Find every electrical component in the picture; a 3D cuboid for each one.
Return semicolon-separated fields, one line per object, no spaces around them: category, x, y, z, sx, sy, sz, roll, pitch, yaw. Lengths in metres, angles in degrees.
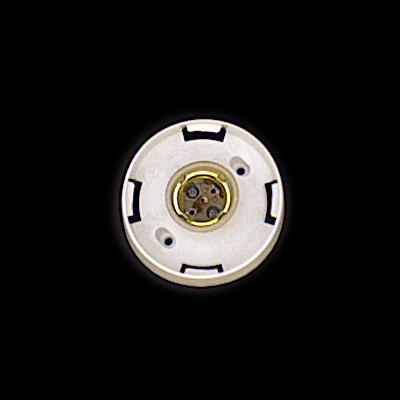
electrical component;0.000;0.000;0.625;0.099;0.099;0.064;0;-7;1
